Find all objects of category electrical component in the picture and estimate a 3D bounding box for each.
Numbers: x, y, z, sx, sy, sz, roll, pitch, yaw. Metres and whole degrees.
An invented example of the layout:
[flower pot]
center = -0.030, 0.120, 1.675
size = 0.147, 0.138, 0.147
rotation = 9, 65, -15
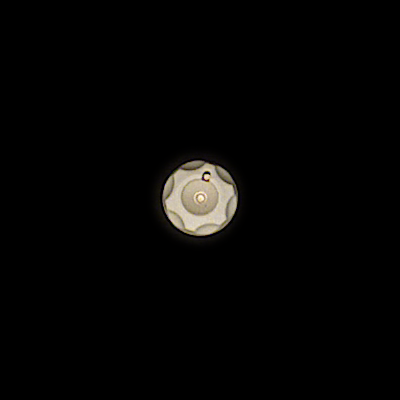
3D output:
[electrical component]
center = 0.000, 0.000, 0.635
size = 0.043, 0.043, 0.062
rotation = 0, -4, 1
